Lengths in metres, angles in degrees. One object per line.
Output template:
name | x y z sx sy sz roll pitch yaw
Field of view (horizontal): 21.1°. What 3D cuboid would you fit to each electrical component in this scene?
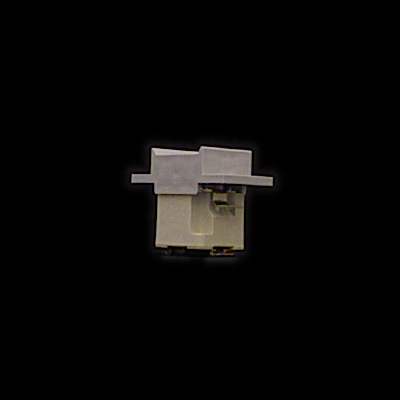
electrical component | 0.000 0.000 0.651 0.042 0.064 0.080 -1 2 -44
